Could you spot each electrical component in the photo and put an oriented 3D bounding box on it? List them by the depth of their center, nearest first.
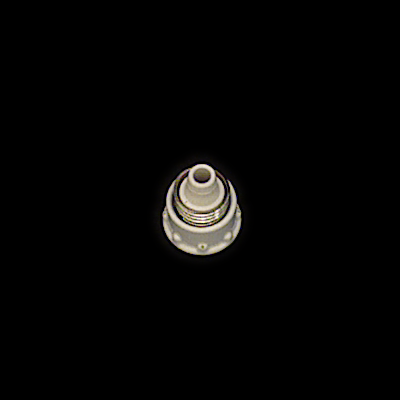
[{"bbox_3d":[0.000,0.000,0.634,0.048,0.048,0.062,0,-27,-1],"label":"electrical component"}]
